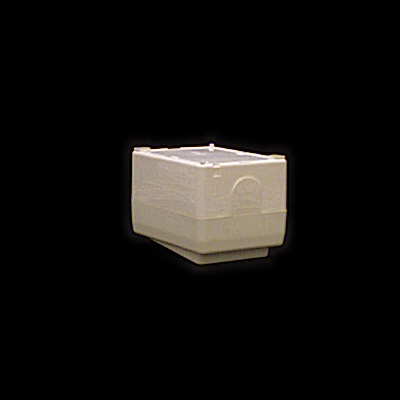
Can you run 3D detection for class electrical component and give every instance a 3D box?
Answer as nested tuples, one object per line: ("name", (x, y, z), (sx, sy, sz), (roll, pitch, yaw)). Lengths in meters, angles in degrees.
("electrical component", (0.000, 0.000, 0.647), (0.061, 0.061, 0.095), (-6, 12, -33))
